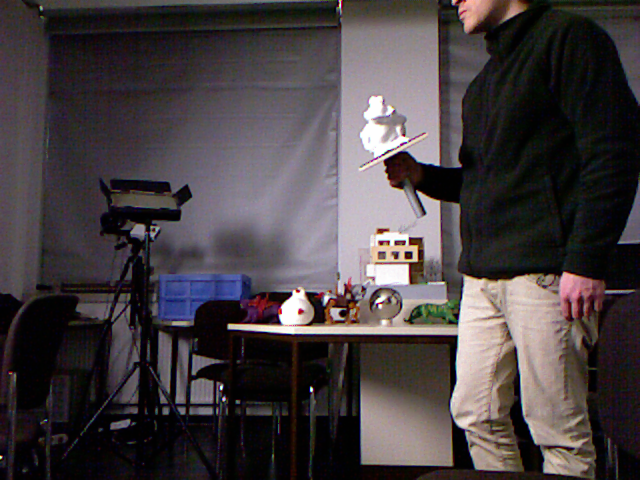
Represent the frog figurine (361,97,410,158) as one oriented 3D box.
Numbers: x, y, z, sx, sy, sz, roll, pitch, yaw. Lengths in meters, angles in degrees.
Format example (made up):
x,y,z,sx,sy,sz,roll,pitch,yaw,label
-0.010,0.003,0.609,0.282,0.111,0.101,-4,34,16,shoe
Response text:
x,y,z,sx,sy,sz,roll,pitch,yaw,label
0.174,-0.328,1.471,0.136,0.159,0.125,-24,8,28,frog figurine
